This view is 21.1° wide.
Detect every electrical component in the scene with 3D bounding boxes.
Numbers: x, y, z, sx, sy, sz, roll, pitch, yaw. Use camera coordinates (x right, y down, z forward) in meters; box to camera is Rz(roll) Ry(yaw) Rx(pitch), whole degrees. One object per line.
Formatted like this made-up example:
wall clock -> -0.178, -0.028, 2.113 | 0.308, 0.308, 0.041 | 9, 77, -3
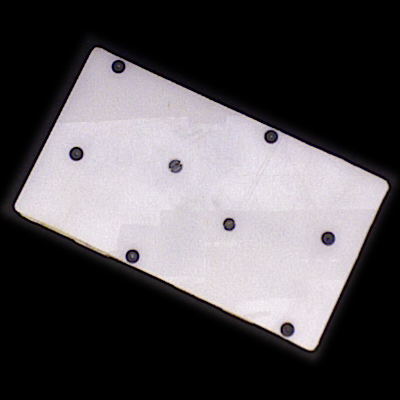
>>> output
electrical component -> 0.000, 0.000, 0.626 | 0.186, 0.106, 0.060 | 25, -6, 3
